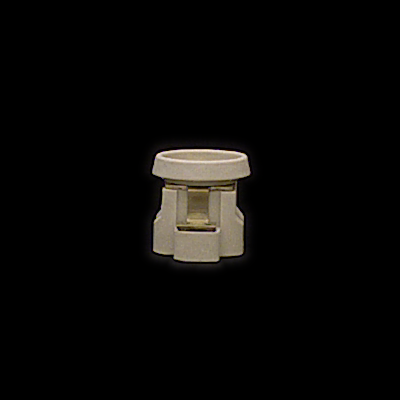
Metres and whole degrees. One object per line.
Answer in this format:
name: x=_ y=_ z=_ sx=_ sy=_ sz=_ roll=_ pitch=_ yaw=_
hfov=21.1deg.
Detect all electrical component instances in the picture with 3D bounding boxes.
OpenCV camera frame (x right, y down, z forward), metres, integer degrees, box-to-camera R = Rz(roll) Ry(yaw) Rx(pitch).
electrical component: x=0.000 y=0.000 z=0.642 sx=0.058 sy=0.057 sz=0.078 roll=2 pitch=11 yaw=2
